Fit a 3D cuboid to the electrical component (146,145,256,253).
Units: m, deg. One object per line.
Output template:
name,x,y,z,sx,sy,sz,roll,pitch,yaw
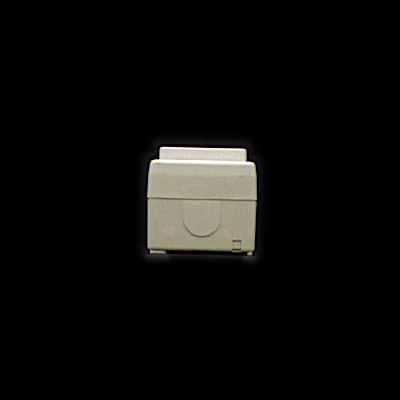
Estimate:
electrical component,0.000,0.000,0.652,0.062,0.061,0.096,1,0,-1
